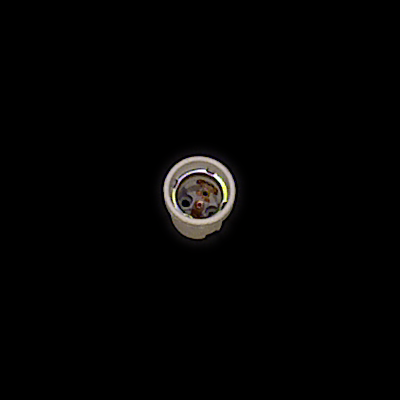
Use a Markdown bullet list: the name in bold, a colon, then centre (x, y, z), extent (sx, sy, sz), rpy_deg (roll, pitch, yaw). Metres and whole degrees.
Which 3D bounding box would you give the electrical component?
- **electrical component**: centre (0.000, 0.000, 0.626), extent (0.040, 0.040, 0.046), rpy_deg (0, -17, -1)
